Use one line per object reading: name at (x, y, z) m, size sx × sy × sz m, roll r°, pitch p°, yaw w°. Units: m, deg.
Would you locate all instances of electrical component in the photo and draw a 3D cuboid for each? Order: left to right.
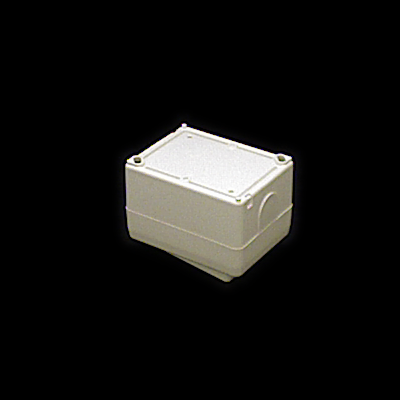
electrical component at (0.000, 0.000, 0.636) m, size 0.095 × 0.062 × 0.061 m, roll 20°, pitch 37°, yaw 27°
